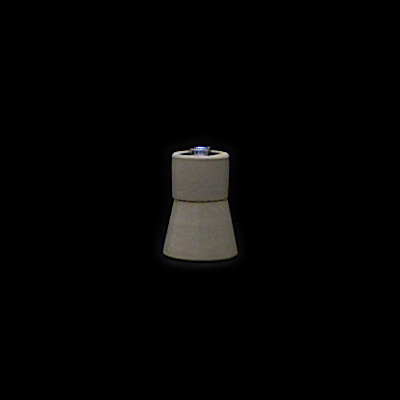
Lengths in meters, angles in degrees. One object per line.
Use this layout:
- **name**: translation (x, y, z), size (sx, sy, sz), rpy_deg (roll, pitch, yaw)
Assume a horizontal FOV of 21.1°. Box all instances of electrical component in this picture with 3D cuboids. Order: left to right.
- **electrical component**: translation (0.000, 0.000, 0.645), size (0.044, 0.066, 0.044), rpy_deg (0, 11, 0)
